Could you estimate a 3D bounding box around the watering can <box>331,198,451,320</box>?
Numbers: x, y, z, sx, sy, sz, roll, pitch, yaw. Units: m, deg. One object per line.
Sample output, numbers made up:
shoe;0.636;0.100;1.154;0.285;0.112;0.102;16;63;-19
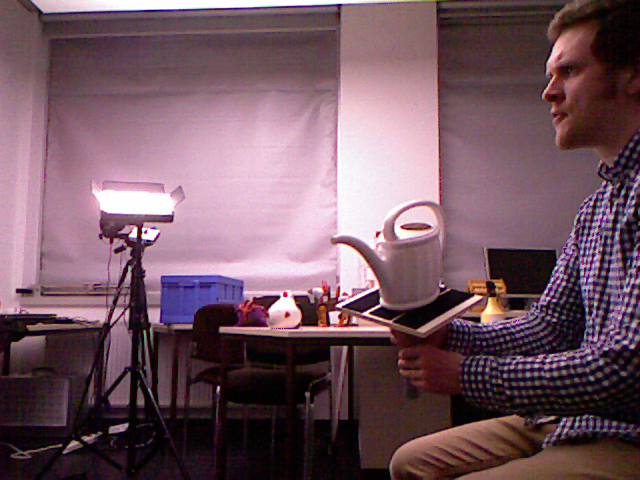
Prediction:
watering can;0.139;0.044;0.945;0.104;0.222;0.351;13;22;42
